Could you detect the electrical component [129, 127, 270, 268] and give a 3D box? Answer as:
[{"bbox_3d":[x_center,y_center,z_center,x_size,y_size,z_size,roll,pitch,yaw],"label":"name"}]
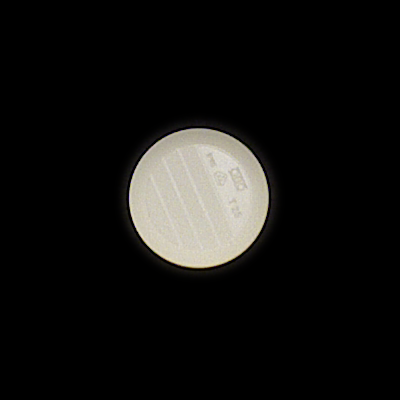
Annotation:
[{"bbox_3d":[0.000,0.000,0.631,0.080,0.080,0.050,0,-7,0],"label":"electrical component"}]
